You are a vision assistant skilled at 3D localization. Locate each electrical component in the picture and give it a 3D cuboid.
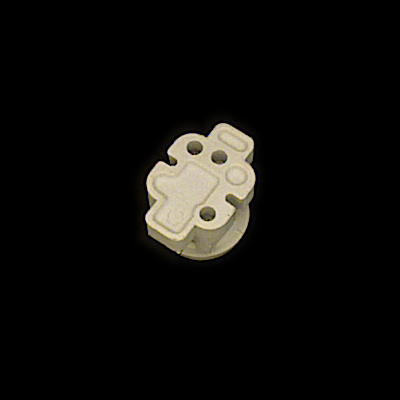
[{"bbox_3d":[0.000,0.000,0.634,0.057,0.079,0.056,31,-21,14],"label":"electrical component"}]
